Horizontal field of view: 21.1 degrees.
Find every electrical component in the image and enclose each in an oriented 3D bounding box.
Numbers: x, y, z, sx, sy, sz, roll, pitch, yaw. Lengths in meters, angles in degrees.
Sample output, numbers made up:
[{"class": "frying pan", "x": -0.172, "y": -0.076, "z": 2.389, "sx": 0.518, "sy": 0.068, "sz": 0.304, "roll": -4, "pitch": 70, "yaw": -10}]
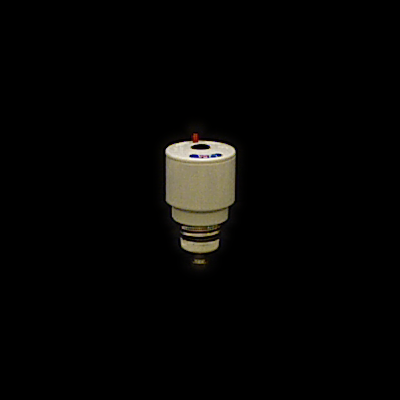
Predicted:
[{"class": "electrical component", "x": 0.000, "y": 0.000, "z": 0.638, "sx": 0.040, "sy": 0.079, "sz": 0.039, "roll": 1, "pitch": 21, "yaw": 0}]
